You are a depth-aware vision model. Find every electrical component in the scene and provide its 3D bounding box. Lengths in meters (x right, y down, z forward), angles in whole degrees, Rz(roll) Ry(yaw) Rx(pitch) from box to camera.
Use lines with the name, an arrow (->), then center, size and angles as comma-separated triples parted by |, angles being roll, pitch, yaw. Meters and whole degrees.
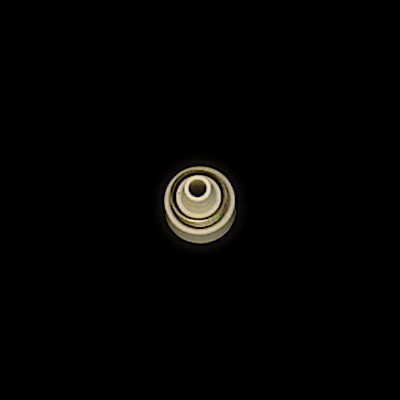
electrical component -> 0.000, 0.000, 0.634 | 0.043, 0.043, 0.061 | 0, -15, 1
